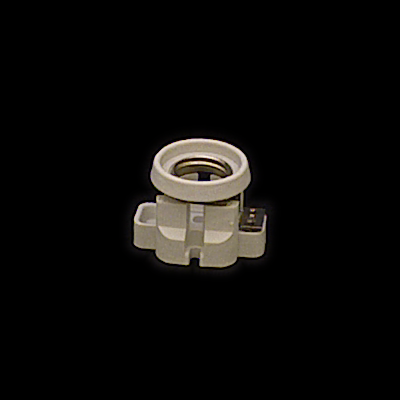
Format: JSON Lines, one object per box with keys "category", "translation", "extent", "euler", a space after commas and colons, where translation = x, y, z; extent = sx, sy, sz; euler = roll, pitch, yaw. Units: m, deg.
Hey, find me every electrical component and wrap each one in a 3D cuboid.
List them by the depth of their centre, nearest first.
{"category": "electrical component", "translation": [0.000, 0.000, 0.636], "extent": [0.078, 0.057, 0.057], "euler": [5, 32, 6]}
